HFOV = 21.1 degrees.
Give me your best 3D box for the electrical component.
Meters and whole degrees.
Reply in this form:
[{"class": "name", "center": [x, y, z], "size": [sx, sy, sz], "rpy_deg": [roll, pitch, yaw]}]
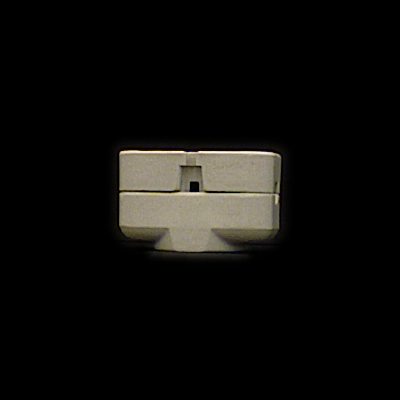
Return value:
[{"class": "electrical component", "center": [0.000, 0.000, 0.659], "size": [0.095, 0.059, 0.054], "rpy_deg": [1, 1, 12]}]
